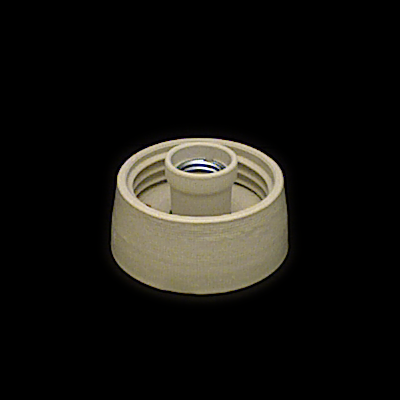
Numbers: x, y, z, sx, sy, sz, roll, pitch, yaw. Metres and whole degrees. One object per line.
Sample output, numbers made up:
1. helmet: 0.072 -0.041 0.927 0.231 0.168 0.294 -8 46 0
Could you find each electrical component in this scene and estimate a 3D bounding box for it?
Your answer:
1. electrical component: 0.000 0.000 0.639 0.108 0.061 0.106 1 32 0
